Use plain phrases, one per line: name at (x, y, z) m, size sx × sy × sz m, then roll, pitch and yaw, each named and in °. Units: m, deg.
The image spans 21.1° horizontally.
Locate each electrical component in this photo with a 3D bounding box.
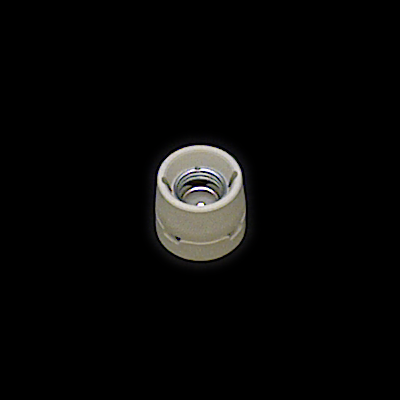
electrical component at (0.000, 0.000, 0.634) m, size 0.055 × 0.055 × 0.047 m, roll 0°, pitch -38°, yaw 1°
